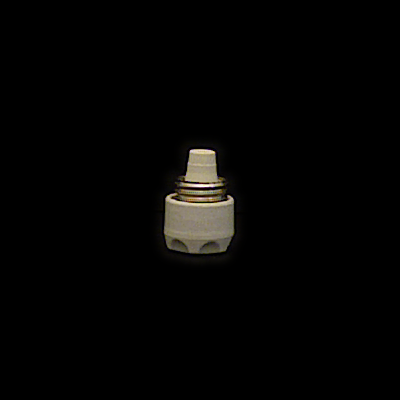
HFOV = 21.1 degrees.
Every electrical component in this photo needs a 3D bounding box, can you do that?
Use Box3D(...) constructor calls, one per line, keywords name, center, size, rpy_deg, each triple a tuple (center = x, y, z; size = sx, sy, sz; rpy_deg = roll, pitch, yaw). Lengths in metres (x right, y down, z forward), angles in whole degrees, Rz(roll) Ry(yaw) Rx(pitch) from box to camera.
Box3D(name="electrical component", center=(0.000, 0.000, 0.651), size=(0.043, 0.062, 0.043), rpy_deg=(3, 12, 0))
